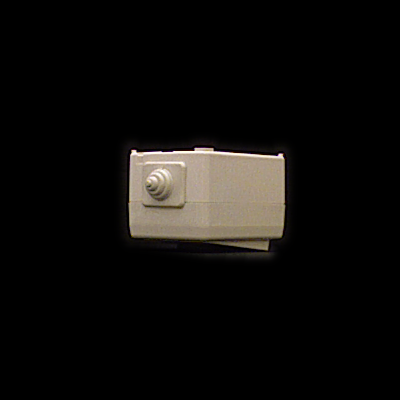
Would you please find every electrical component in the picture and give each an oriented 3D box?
[{"bbox_3d":[0.000,0.000,0.651,0.061,0.061,0.096,2,1,39],"label":"electrical component"}]
